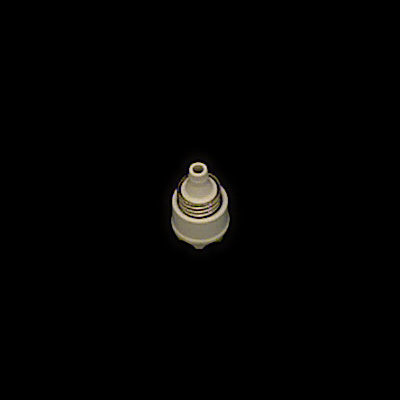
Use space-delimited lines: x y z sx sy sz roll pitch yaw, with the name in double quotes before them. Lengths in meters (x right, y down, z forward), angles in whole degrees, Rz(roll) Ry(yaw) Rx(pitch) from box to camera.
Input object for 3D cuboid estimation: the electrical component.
"electrical component" 0.000 0.000 0.639 0.035 0.035 0.062 0 -37 2
